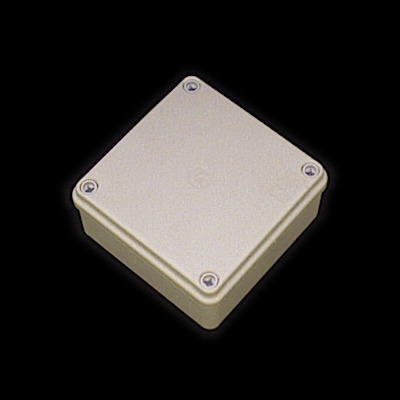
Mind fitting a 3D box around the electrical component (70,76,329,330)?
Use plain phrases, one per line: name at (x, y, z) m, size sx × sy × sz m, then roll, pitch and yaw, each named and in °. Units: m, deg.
electrical component at (0.000, 0.000, 0.629) m, size 0.108 × 0.109 × 0.056 m, roll 37°, pitch -22°, yaw 18°
